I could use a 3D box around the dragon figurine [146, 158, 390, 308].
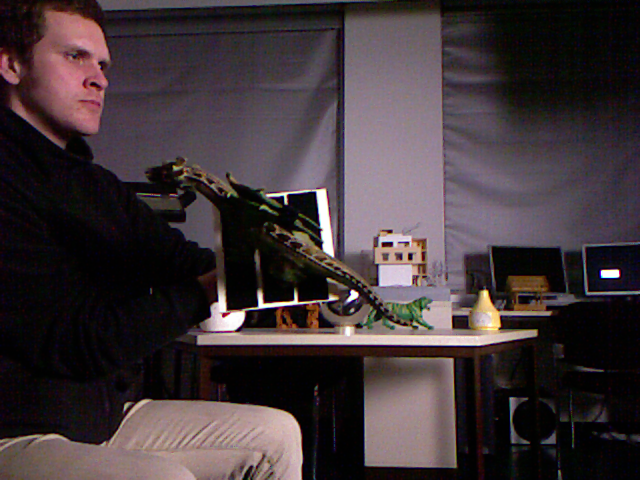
[{"bbox_3d":[-0.061,-0.011,0.763,0.413,0.124,0.241,26,-11,4],"label":"dragon figurine"}]
